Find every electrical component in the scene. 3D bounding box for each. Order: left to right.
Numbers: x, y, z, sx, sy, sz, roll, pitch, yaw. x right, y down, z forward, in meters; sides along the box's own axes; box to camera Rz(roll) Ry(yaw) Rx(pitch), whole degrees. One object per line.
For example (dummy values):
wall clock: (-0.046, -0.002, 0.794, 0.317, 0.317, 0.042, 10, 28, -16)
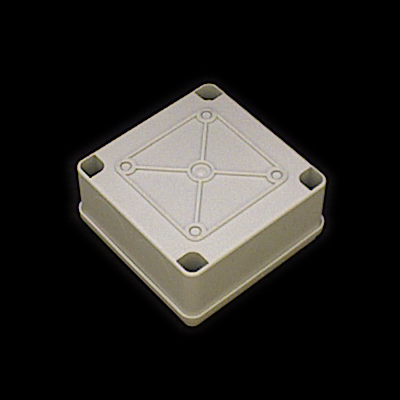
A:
electrical component: (0.000, 0.000, 0.631, 0.109, 0.056, 0.108, -34, 60, -24)
